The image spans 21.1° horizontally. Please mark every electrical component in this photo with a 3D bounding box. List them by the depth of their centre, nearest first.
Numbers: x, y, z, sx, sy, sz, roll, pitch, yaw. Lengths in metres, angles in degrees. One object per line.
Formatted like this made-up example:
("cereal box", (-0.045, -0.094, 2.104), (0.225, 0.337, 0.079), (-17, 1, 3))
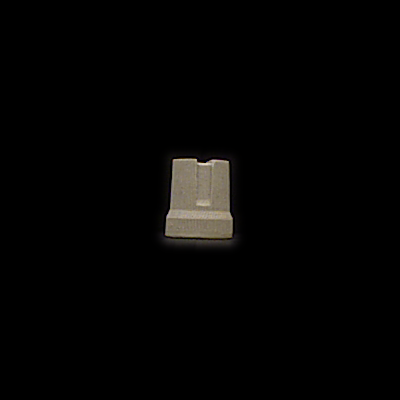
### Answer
("electrical component", (0.000, 0.000, 0.651), (0.040, 0.046, 0.040), (2, 1, 0))
